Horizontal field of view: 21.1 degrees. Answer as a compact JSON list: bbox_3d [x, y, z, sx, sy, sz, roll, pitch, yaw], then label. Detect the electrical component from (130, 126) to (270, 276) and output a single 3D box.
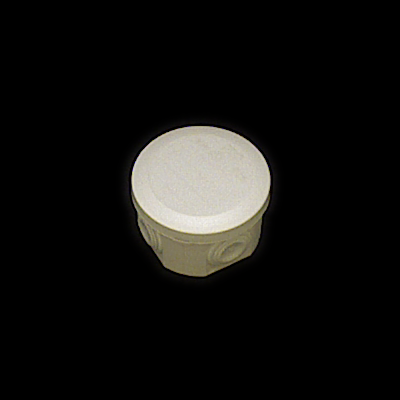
[{"bbox_3d":[0.000,0.000,0.630,0.080,0.080,0.051,0,-38,0],"label":"electrical component"}]
